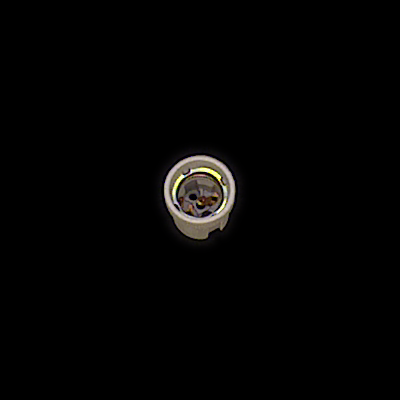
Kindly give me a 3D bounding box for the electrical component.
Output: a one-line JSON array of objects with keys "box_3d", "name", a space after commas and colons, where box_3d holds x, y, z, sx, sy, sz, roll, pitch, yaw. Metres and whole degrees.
[{"box_3d": [0.000, 0.000, 0.627, 0.040, 0.040, 0.046, 0, -17, 0], "name": "electrical component"}]
